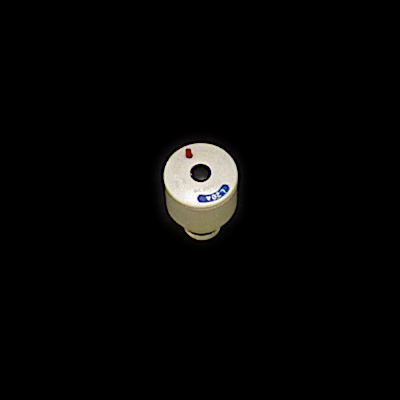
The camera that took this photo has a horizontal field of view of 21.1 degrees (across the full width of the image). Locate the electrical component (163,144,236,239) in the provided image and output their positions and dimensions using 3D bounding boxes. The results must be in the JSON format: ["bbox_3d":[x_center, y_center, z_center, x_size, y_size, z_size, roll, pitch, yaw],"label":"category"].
[{"bbox_3d":[0.000,0.000,0.619,0.040,0.040,0.078,0,-28,1],"label":"electrical component"}]
